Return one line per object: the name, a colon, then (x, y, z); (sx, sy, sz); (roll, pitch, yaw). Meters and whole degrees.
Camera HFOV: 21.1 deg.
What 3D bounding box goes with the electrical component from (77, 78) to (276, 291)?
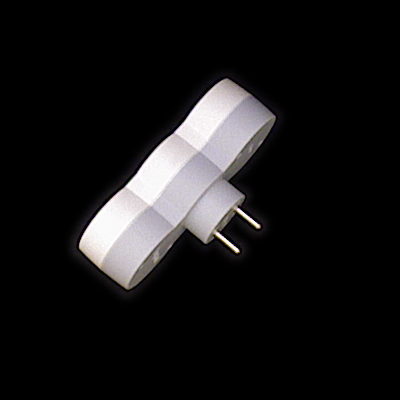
electrical component: (0.000, 0.000, 0.631); (0.074, 0.138, 0.052); (39, -14, 9)
